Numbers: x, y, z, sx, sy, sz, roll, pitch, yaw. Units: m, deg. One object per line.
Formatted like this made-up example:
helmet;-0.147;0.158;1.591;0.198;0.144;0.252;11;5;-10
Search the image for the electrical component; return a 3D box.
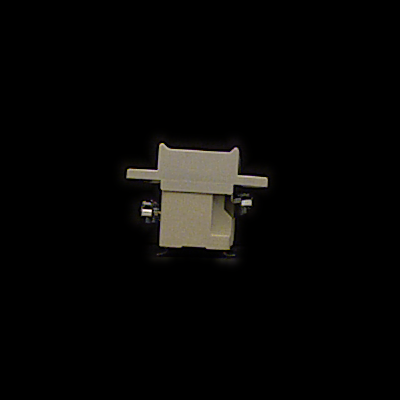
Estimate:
electrical component;0.000;0.000;0.663;0.079;0.063;0.121;3;1;3
